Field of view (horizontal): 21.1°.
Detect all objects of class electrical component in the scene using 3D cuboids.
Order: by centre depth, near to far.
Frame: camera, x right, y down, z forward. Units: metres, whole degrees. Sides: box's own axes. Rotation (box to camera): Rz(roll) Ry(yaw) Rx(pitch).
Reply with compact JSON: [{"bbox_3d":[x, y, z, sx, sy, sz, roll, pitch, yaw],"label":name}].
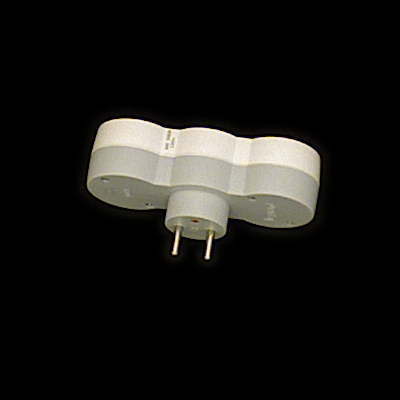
[{"bbox_3d":[0.000,0.000,0.636,0.138,0.074,0.052,8,-25,3],"label":"electrical component"}]
